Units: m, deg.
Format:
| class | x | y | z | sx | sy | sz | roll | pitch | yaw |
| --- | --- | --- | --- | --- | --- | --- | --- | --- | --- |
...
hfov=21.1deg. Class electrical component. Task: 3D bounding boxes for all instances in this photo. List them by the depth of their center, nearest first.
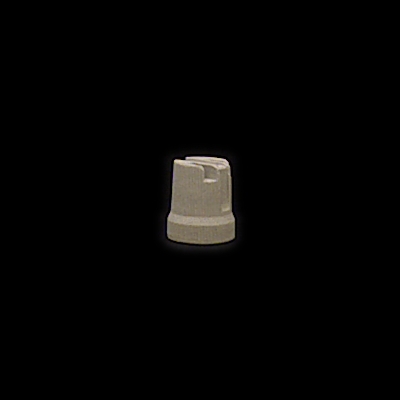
| class | x | y | z | sx | sy | sz | roll | pitch | yaw |
| --- | --- | --- | --- | --- | --- | --- | --- | --- | --- |
| electrical component | 0.000 | 0.000 | 0.644 | 0.040 | 0.046 | 0.040 | 1 | 11 | 0 |
